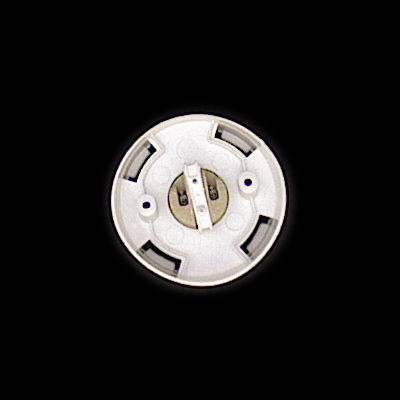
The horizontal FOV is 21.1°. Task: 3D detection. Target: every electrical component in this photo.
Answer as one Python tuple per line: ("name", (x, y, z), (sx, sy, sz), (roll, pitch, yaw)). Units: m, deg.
("electrical component", (0.000, 0.000, 0.624), (0.099, 0.099, 0.064), (0, -6, -1))
